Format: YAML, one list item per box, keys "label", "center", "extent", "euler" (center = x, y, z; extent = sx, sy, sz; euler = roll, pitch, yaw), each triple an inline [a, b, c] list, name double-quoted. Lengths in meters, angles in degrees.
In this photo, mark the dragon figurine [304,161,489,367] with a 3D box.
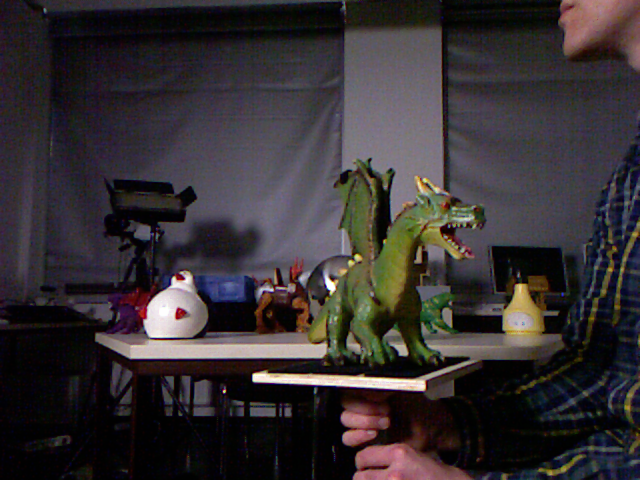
- label: "dragon figurine"
  center: [0.050, 0.026, 0.634]
  extent: [0.122, 0.244, 0.408]
  euler: [1, -6, -25]
